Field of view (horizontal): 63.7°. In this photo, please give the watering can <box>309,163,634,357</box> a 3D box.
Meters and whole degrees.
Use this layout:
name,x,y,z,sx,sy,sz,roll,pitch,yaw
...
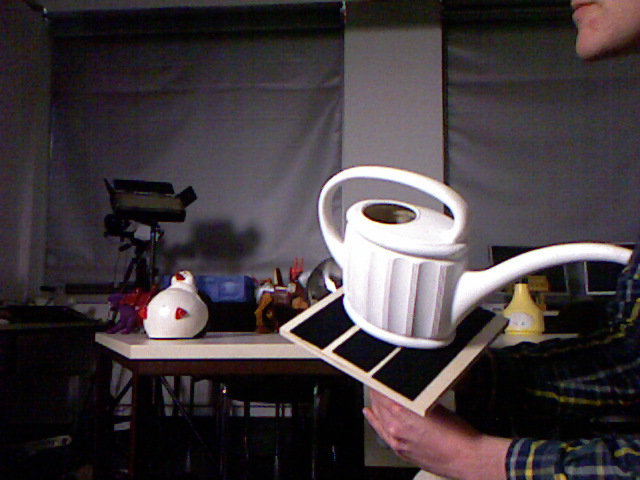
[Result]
name,x,y,z,sx,sy,sz,roll,pitch,yaw
watering can,0.127,0.037,0.570,0.353,0.221,0.106,21,38,33
